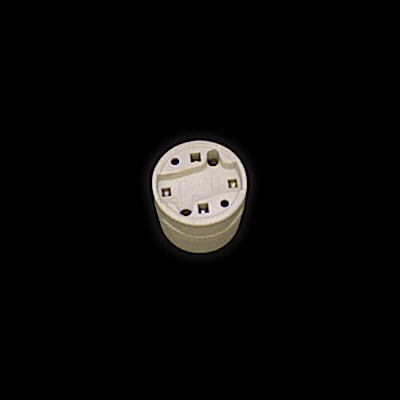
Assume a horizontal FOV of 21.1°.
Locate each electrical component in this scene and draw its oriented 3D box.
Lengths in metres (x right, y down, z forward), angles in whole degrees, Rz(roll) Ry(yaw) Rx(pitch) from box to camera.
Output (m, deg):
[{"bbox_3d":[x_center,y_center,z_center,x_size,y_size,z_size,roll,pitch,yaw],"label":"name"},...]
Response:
[{"bbox_3d":[0.000,0.000,0.633,0.055,0.056,0.047,0,-28,0],"label":"electrical component"}]
